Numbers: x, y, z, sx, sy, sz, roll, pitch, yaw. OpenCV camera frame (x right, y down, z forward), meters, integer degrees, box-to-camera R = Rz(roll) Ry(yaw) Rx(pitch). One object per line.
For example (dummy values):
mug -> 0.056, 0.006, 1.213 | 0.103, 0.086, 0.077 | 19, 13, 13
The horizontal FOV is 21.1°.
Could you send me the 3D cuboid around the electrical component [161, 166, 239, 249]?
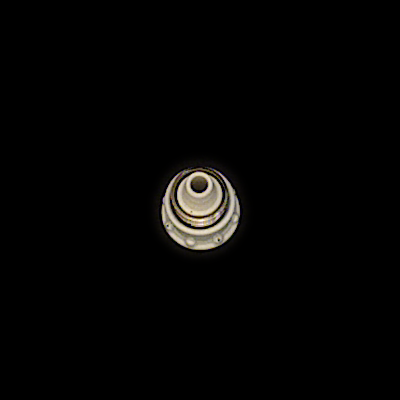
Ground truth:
electrical component -> 0.000, 0.000, 0.634 | 0.048, 0.048, 0.061 | 0, -17, 0
